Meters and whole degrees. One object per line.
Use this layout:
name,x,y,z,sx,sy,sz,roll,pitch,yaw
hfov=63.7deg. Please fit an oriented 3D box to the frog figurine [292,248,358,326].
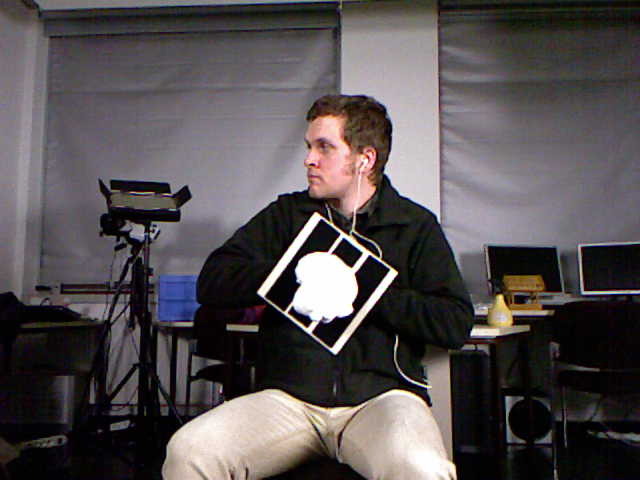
frog figurine,0.004,0.084,0.945,0.123,0.138,0.160,-30,-1,7
